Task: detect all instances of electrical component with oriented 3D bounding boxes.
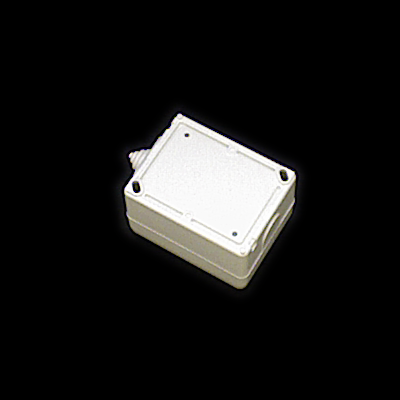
[{"bbox_3d":[0.000,0.000,0.627,0.096,0.062,0.061,28,-23,14],"label":"electrical component"}]
